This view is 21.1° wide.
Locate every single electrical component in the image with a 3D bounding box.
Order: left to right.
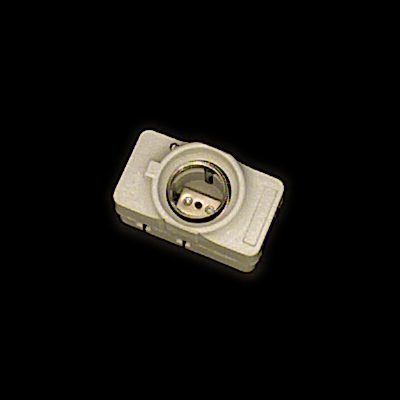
[{"bbox_3d":[0.000,0.000,0.636,0.089,0.050,0.055,21,-15,6],"label":"electrical component"}]
